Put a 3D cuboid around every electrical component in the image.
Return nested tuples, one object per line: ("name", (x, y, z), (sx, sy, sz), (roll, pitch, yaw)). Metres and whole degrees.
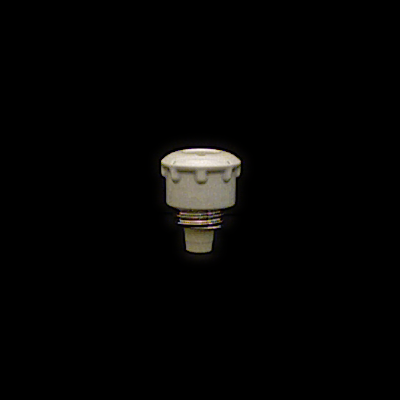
("electrical component", (0.000, 0.000, 0.651), (0.048, 0.062, 0.048), (1, 11, 0))
